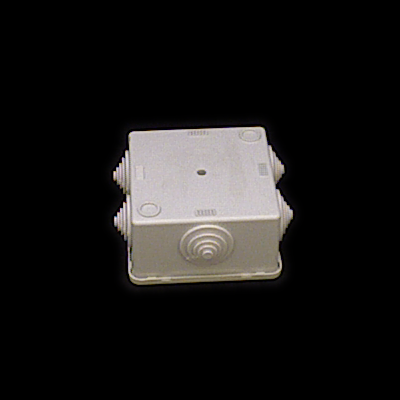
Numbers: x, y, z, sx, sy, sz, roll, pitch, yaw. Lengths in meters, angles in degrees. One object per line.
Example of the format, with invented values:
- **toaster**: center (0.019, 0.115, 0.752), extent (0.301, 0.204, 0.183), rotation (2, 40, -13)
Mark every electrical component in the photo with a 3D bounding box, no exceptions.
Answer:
- **electrical component**: center (0.000, 0.000, 0.635), extent (0.100, 0.049, 0.099), rotation (-2, 42, -4)
